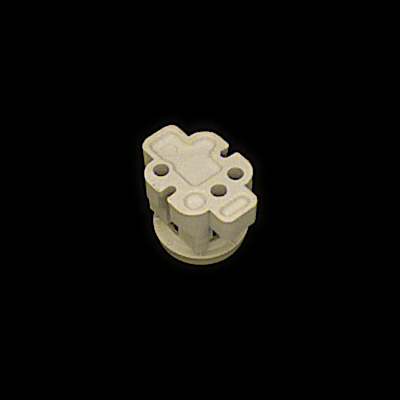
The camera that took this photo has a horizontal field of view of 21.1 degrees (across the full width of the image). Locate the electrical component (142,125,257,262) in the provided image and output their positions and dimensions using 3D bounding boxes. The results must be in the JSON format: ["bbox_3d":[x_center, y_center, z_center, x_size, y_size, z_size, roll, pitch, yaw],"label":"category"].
[{"bbox_3d":[0.000,0.000,0.637,0.058,0.057,0.078,-36,60,-23],"label":"electrical component"}]
